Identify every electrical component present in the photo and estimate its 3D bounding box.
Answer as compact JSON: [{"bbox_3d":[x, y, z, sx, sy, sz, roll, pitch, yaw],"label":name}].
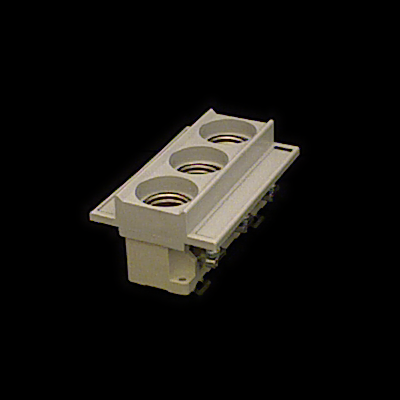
[{"bbox_3d":[0.000,0.000,0.646,0.078,0.064,0.120,14,34,23],"label":"electrical component"}]
